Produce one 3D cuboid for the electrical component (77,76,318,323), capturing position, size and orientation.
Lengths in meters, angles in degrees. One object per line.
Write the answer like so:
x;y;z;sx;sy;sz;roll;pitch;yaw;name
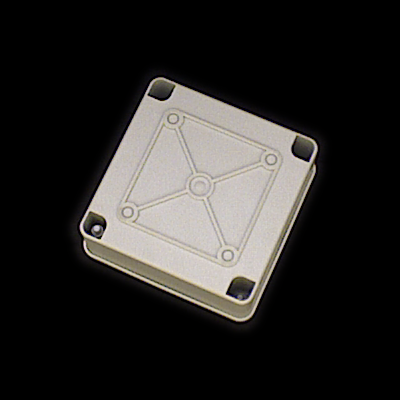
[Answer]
0.000;0.000;0.627;0.108;0.109;0.056;23;-15;7;electrical component
